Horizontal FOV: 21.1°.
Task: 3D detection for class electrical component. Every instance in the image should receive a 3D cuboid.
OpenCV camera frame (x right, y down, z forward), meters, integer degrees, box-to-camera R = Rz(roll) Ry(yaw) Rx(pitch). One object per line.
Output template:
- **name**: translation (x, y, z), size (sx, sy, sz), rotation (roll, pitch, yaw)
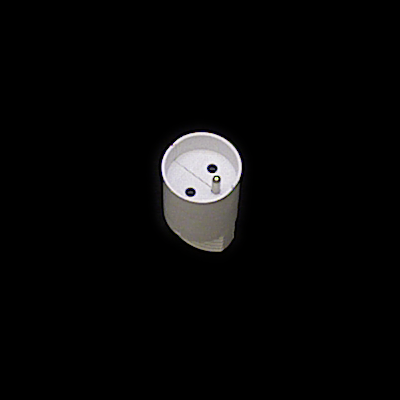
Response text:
- **electrical component**: translation (0.000, 0.000, 0.617), size (0.043, 0.043, 0.081), rotation (0, -27, 0)
